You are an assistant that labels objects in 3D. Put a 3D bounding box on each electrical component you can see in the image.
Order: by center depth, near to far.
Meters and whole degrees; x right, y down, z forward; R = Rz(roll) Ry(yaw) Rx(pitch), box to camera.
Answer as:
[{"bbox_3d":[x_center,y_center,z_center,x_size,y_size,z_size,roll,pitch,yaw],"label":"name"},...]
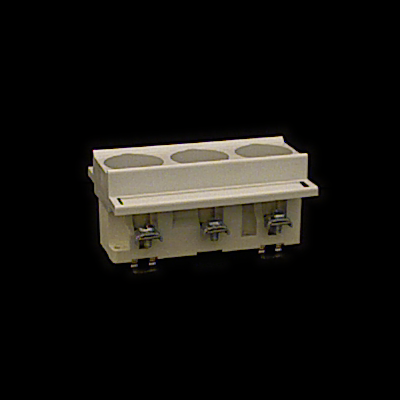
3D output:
[{"bbox_3d":[0.000,0.000,0.652,0.122,0.064,0.077,-5,21,-16],"label":"electrical component"}]
